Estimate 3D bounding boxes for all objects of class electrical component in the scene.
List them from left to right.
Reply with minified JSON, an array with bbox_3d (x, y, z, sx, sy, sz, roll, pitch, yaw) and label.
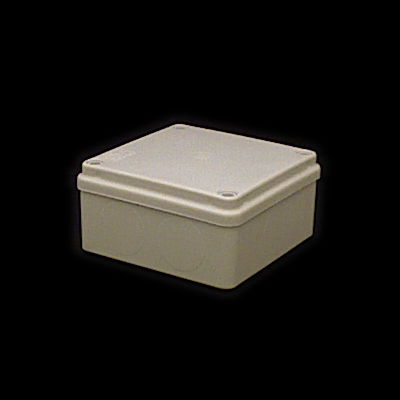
[{"bbox_3d":[0.000,0.000,0.640,0.108,0.057,0.108,14,24,29],"label":"electrical component"}]
